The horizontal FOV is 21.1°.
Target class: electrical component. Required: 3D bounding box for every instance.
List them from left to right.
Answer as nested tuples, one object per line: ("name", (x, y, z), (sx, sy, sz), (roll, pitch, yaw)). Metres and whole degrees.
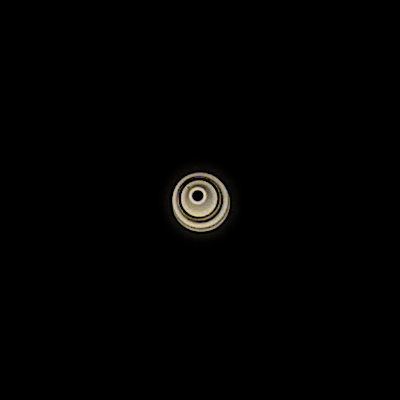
("electrical component", (0.000, 0.000, 0.637), (0.035, 0.035, 0.061), (0, -6, 2))
